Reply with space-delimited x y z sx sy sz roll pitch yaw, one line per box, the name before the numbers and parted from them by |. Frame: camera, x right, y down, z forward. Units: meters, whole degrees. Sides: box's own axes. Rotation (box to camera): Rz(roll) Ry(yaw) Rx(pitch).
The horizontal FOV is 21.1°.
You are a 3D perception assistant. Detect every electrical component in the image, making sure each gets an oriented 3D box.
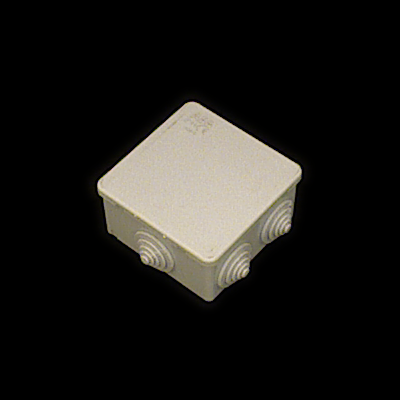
electrical component | 0.000 0.000 0.641 0.099 0.100 0.049 34 -30 22
